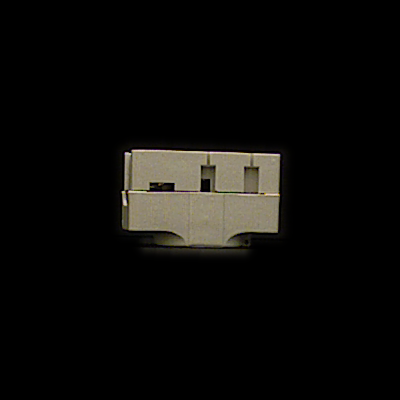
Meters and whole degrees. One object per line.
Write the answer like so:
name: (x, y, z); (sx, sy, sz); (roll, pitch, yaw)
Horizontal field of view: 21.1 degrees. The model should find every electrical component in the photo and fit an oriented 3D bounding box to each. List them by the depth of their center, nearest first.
electrical component: (0.000, 0.000, 0.657); (0.090, 0.056, 0.050); (2, 1, -11)
